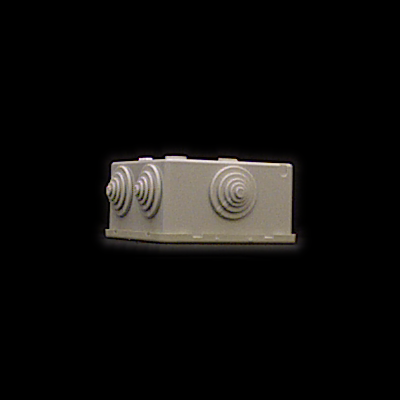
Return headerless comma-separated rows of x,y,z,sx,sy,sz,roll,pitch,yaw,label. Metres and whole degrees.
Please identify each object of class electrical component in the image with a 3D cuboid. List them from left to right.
0.000,0.000,0.649,0.100,0.048,0.099,1,0,-28,electrical component
